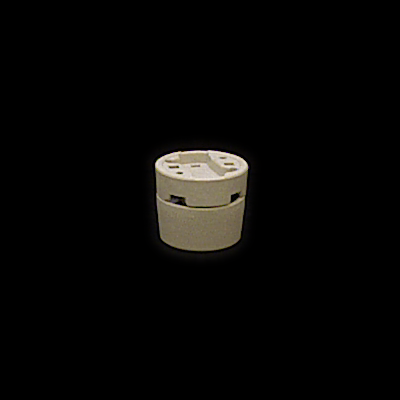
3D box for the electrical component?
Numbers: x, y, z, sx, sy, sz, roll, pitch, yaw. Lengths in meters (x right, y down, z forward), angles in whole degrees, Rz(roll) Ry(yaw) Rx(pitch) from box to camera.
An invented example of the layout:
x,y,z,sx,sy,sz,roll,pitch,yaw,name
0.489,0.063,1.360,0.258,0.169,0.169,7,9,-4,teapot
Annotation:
x,y,z,sx,sy,sz,roll,pitch,yaw,name
0.000,0.000,0.642,0.055,0.047,0.055,1,22,0,electrical component
